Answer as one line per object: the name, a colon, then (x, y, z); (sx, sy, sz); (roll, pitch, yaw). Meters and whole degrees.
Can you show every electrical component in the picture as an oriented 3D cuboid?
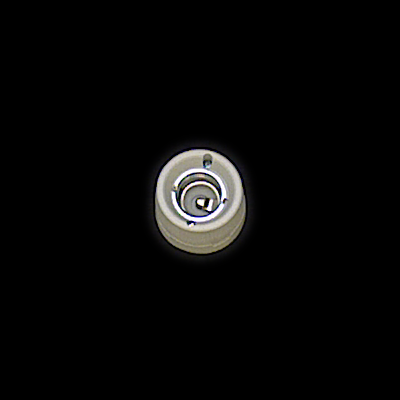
electrical component: (0.000, 0.000, 0.632); (0.055, 0.056, 0.047); (0, -16, 1)
